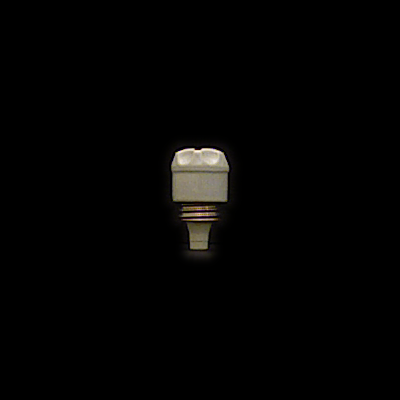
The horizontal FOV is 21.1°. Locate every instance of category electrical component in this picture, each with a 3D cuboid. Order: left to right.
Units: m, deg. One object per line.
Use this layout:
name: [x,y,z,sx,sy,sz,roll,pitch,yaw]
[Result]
electrical component: [0.000,0.000,0.655,0.035,0.061,0.035,1,1,1]
